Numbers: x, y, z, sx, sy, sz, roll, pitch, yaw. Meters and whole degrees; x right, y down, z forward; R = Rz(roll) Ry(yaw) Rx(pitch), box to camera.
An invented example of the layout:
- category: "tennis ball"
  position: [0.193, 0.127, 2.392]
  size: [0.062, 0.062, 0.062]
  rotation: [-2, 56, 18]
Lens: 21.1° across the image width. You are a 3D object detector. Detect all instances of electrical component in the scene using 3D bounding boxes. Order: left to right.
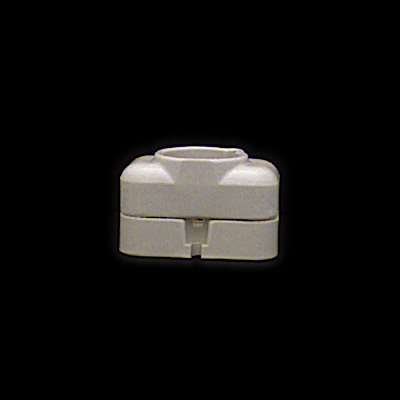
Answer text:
- category: "electrical component"
  position: [0.000, 0.000, 0.652]
  size: [0.095, 0.060, 0.053]
  rotation: [2, 12, 4]
